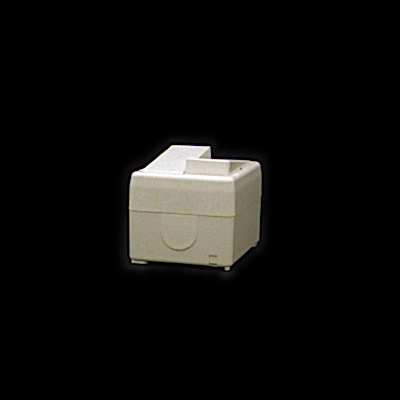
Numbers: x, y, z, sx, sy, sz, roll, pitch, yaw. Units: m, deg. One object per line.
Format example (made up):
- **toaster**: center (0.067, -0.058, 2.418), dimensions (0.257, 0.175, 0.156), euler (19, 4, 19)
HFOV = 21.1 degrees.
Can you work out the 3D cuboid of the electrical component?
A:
- **electrical component**: center (0.000, 0.000, 0.647), dimensions (0.061, 0.061, 0.095), euler (4, 11, 15)
